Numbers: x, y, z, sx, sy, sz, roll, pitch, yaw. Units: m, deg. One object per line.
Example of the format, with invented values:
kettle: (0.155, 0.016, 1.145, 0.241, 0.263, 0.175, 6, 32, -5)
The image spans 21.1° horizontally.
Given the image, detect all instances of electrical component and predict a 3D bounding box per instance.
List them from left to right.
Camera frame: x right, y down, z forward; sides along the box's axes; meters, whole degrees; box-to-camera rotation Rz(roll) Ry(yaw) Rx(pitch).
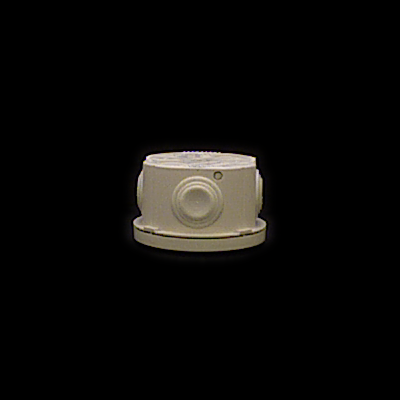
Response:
electrical component: (0.000, 0.000, 0.646, 0.080, 0.051, 0.079, 1, 10, 0)
